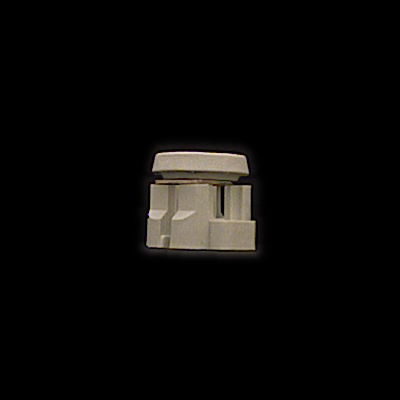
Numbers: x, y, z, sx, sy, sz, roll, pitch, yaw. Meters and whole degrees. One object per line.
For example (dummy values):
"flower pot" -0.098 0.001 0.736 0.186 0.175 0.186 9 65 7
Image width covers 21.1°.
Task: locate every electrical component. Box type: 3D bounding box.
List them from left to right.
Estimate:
"electrical component" 0.000 0.000 0.650 0.058 0.057 0.078 1 1 -40
